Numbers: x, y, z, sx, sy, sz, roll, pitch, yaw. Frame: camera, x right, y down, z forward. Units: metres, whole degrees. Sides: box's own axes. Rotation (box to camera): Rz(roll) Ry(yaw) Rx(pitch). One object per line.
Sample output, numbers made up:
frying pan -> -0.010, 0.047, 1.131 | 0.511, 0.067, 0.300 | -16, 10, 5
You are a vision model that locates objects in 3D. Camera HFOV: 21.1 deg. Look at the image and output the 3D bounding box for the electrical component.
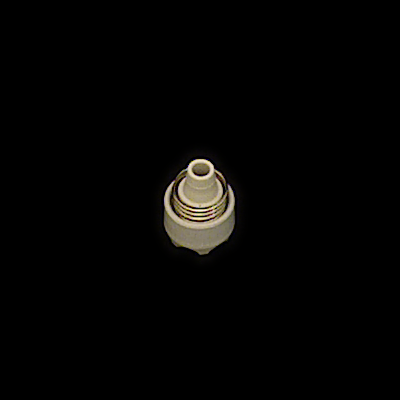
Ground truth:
electrical component -> 0.000, 0.000, 0.635 | 0.043, 0.043, 0.062 | 0, -36, -2
